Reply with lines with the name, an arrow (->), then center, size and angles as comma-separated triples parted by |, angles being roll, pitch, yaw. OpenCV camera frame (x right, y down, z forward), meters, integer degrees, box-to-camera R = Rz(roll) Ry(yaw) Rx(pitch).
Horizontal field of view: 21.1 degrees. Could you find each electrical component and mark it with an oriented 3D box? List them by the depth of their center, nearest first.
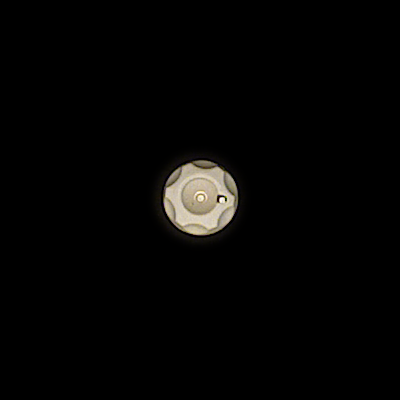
electrical component -> 0.000, 0.000, 0.635 | 0.043, 0.043, 0.062 | 0, -5, 2
